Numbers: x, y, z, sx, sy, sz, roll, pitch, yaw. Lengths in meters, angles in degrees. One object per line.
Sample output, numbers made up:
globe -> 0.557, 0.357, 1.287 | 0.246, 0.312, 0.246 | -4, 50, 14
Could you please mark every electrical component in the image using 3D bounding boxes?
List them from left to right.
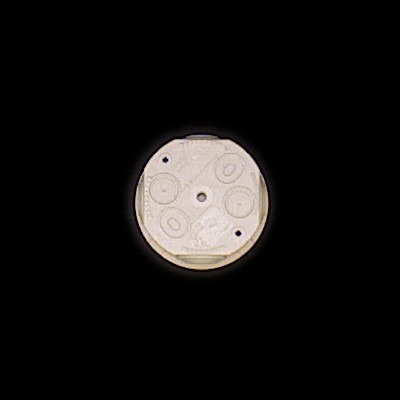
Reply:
electrical component -> 0.000, 0.000, 0.633 | 0.080, 0.080, 0.050 | 0, -6, 0
